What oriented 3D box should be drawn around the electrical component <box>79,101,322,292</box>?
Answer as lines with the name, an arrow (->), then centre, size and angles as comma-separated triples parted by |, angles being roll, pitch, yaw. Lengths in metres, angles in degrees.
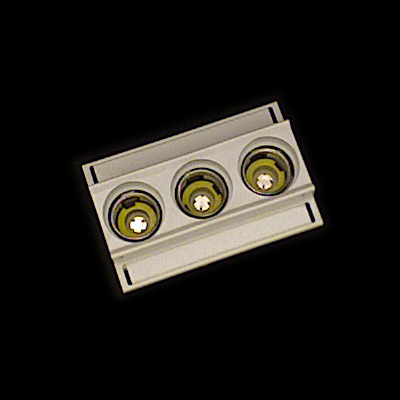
electrical component -> 0.000, 0.000, 0.637 | 0.121, 0.079, 0.063 | -18, -14, -5
